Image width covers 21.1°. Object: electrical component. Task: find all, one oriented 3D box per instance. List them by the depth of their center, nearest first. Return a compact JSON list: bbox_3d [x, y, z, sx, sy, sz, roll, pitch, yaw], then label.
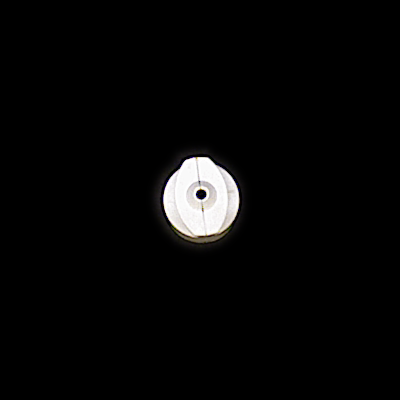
[{"bbox_3d":[0.000,0.000,0.616,0.043,0.043,0.080,0,-6,1],"label":"electrical component"}]
